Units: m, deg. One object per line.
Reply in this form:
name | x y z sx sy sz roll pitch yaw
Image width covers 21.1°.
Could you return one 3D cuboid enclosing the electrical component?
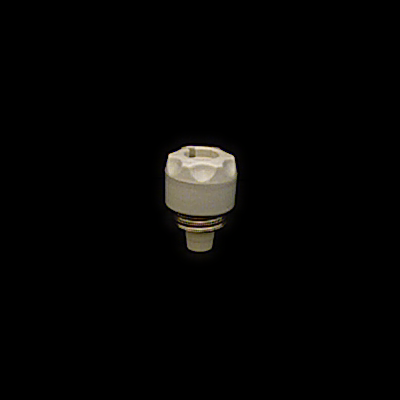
electrical component | 0.000 0.000 0.645 0.043 0.063 0.043 2 23 0
